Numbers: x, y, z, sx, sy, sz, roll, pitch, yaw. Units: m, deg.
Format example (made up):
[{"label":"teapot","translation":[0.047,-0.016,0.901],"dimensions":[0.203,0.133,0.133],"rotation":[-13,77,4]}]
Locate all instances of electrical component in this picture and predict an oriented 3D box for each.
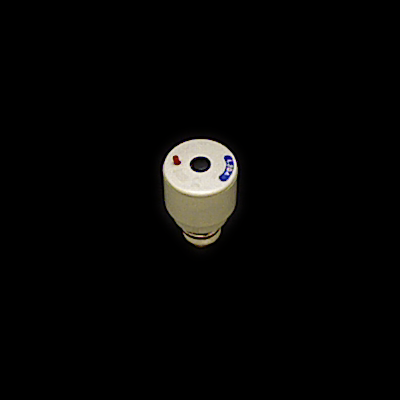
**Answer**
[{"label":"electrical component","translation":[0.000,0.000,0.621],"dimensions":[0.040,0.040,0.079],"rotation":[0,-38,0]}]
